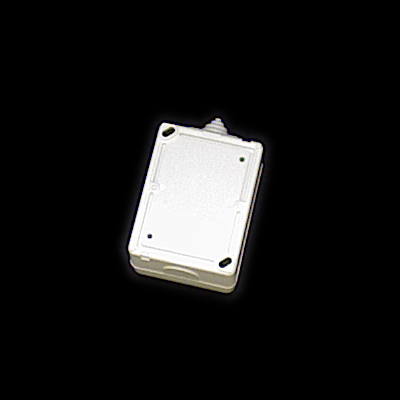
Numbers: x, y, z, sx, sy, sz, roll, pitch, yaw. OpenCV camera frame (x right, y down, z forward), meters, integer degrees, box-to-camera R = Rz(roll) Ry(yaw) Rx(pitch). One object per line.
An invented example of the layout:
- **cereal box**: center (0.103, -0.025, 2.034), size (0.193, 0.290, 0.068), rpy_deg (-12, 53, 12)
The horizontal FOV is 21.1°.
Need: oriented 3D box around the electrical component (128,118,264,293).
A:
- **electrical component**: center (0.000, 0.000, 0.628), size (0.062, 0.096, 0.061), rpy_deg (12, -16, 4)
